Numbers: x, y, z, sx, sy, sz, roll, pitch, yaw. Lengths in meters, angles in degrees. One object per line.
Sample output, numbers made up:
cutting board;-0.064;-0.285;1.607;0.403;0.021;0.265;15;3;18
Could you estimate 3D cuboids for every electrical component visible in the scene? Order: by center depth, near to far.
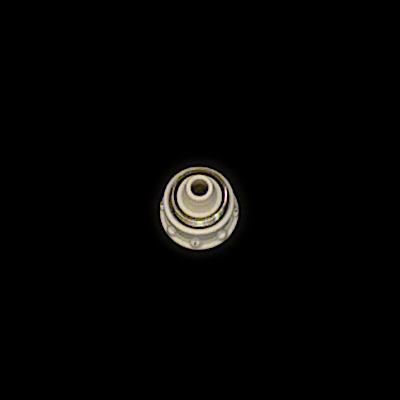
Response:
electrical component;0.000;0.000;0.633;0.048;0.048;0.061;0;-15;0
